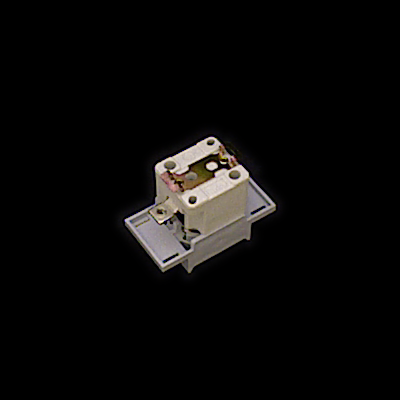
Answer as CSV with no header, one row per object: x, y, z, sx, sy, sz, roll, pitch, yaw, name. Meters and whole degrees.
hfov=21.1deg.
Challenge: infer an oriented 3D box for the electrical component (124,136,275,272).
0.000,0.000,0.628,0.081,0.042,0.064,-29,-32,-20,electrical component
